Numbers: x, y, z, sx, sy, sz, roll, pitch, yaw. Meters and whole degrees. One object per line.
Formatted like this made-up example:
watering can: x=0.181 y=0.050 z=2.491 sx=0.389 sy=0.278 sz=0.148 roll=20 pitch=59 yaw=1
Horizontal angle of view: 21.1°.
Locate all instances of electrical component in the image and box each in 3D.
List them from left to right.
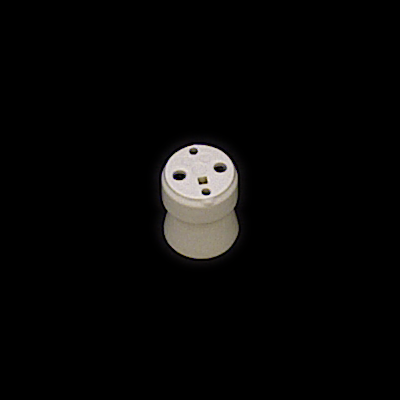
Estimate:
electrical component: x=0.000 y=0.000 z=0.630 sx=0.045 sy=0.044 sz=0.055 roll=0 pitch=-38 yaw=0
